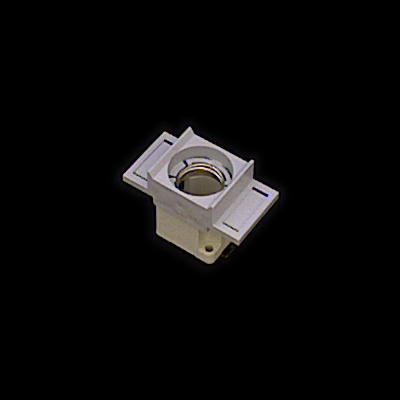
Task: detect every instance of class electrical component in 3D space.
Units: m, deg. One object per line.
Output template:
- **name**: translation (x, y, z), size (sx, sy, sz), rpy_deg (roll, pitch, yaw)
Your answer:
- **electrical component**: translation (0.000, 0.000, 0.627), size (0.080, 0.042, 0.064), rpy_deg (29, -31, 20)
